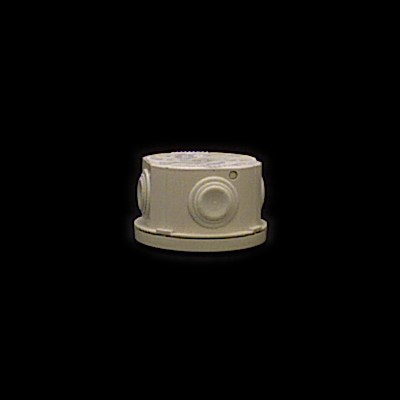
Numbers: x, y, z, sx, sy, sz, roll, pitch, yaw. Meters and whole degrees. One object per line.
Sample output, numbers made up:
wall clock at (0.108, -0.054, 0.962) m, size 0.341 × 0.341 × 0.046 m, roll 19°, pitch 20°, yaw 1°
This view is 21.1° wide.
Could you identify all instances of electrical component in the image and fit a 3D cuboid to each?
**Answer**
electrical component at (0.000, 0.000, 0.645) m, size 0.080 × 0.051 × 0.079 m, roll 1°, pitch 10°, yaw 0°
